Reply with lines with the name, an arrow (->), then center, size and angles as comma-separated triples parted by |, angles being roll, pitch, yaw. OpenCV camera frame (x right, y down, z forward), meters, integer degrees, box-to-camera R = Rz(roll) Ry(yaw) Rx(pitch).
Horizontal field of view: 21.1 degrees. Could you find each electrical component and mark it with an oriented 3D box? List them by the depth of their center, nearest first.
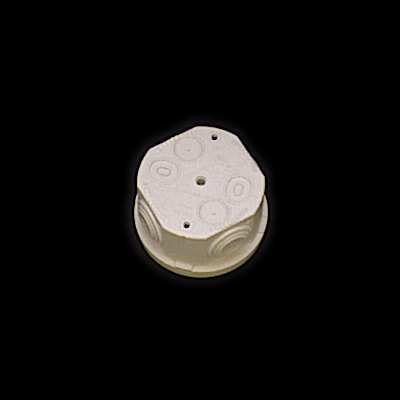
electrical component -> 0.000, 0.000, 0.632 | 0.080, 0.080, 0.050 | 0, -28, 0
